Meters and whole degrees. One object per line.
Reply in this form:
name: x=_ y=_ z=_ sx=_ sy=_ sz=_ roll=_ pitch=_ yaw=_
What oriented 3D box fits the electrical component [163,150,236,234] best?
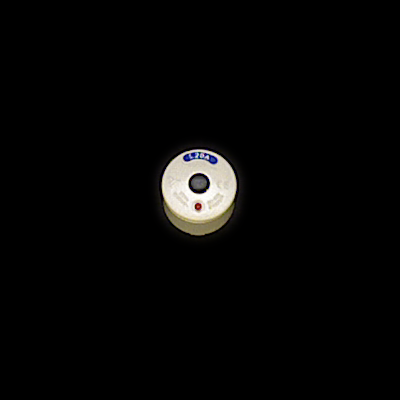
electrical component: x=0.000 y=0.000 z=0.616 sx=0.040 sy=0.040 sz=0.078 roll=0 pitch=-16 yaw=0
